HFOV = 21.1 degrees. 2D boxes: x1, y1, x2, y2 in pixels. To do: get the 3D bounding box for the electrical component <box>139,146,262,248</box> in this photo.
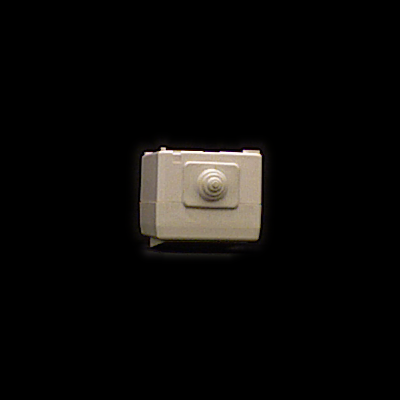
[{"bbox_3d":[0.000,0.000,0.648,0.062,0.061,0.096,1,1,-11],"label":"electrical component"}]
